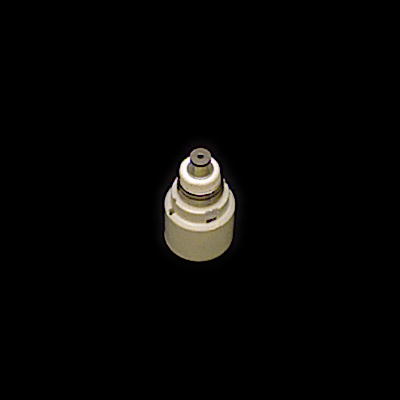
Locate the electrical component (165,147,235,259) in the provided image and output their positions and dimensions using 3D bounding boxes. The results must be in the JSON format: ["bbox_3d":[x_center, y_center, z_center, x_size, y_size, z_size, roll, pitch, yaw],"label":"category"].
[{"bbox_3d":[0.000,0.000,0.620,0.040,0.040,0.079,0,-39,-1],"label":"electrical component"}]
